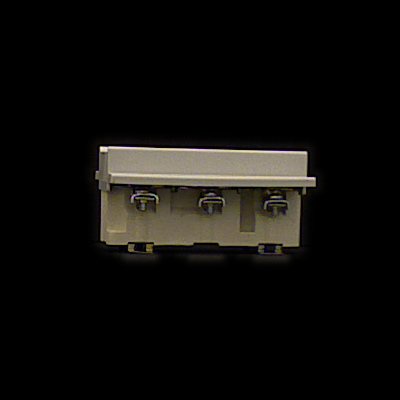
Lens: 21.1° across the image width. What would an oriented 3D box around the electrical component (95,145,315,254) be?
[{"bbox_3d":[0.000,0.000,0.661,0.122,0.063,0.078,1,2,-12],"label":"electrical component"}]
